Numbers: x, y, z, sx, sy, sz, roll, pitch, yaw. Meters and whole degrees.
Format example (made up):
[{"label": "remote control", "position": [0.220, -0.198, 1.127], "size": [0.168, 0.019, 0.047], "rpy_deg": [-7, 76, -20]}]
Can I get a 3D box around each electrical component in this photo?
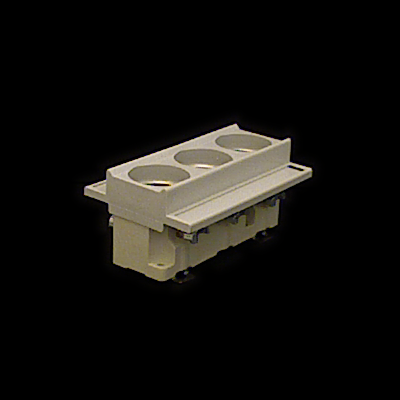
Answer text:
[{"label": "electrical component", "position": [0.000, 0.000, 0.651], "size": [0.078, 0.064, 0.121], "rpy_deg": [19, 27, 35]}]
